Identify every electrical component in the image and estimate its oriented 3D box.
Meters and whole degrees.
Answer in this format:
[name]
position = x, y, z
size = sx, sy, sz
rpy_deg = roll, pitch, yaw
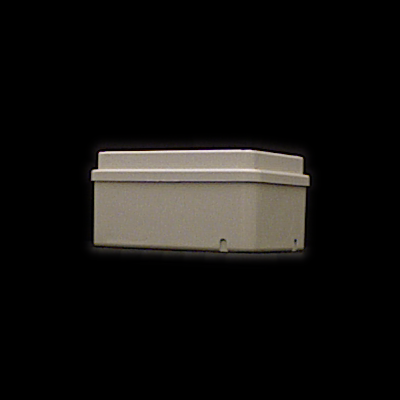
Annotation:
[electrical component]
position = 0.000, 0.000, 0.647
size = 0.113, 0.057, 0.078
rpy_deg = 2, 0, 30
